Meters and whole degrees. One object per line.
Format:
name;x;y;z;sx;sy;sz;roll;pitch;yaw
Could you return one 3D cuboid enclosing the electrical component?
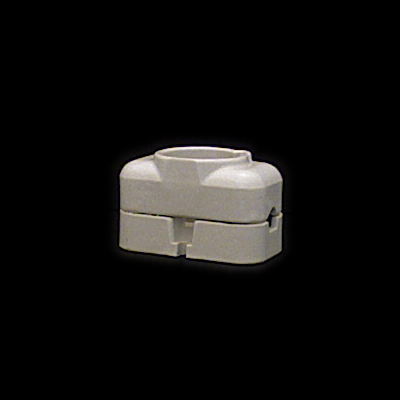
electrical component;0.000;0.000;0.652;0.094;0.060;0.053;6;13;23
